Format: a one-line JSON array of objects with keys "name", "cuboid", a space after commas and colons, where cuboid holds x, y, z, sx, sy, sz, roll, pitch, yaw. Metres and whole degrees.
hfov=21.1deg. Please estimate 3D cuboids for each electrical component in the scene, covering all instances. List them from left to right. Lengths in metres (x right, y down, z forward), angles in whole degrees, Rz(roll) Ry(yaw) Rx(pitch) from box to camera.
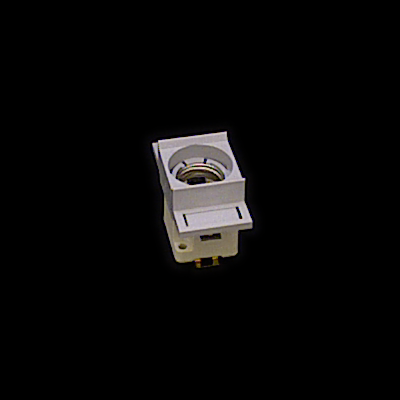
[{"name": "electrical component", "cuboid": [0.000, 0.000, 0.631, 0.042, 0.064, 0.080, -9, 43, -9]}]
